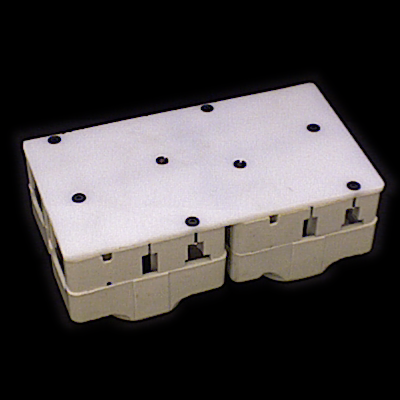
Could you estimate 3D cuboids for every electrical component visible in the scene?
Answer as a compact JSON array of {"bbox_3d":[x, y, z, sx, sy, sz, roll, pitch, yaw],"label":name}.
[{"bbox_3d":[0.000,0.000,0.630,0.186,0.061,0.104,-13,44,-15],"label":"electrical component"}]
